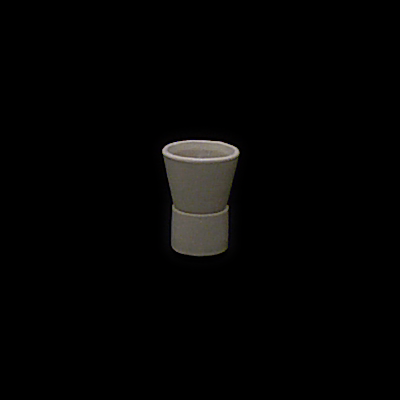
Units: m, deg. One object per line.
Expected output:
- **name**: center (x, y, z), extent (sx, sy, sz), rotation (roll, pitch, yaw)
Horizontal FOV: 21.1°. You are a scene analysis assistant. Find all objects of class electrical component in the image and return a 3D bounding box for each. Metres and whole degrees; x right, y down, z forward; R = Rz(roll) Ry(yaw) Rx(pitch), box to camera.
- **electrical component**: center (0.000, 0.000, 0.640), extent (0.044, 0.066, 0.044), rotation (1, 20, 0)
